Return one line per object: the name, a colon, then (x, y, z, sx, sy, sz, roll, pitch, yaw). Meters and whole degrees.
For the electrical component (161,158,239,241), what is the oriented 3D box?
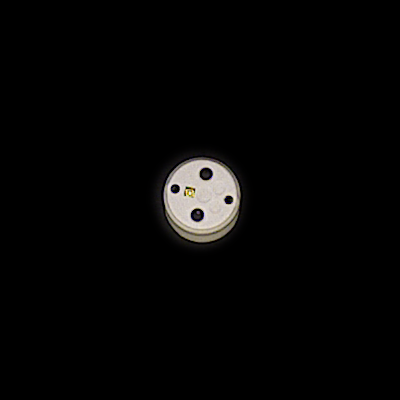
electrical component: (0.000, 0.000, 0.630, 0.045, 0.045, 0.055, 0, -6, 0)
